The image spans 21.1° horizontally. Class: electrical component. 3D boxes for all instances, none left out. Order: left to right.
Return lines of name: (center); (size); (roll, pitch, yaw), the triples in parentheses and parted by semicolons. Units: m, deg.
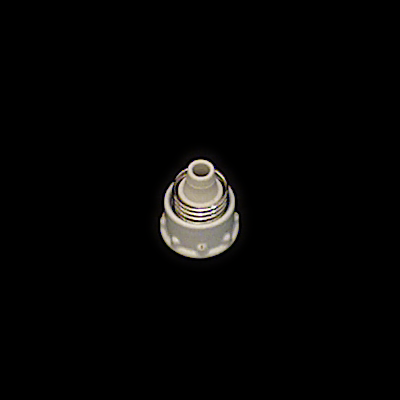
electrical component: (0.000, 0.000, 0.635); (0.048, 0.048, 0.062); (0, -37, -1)
